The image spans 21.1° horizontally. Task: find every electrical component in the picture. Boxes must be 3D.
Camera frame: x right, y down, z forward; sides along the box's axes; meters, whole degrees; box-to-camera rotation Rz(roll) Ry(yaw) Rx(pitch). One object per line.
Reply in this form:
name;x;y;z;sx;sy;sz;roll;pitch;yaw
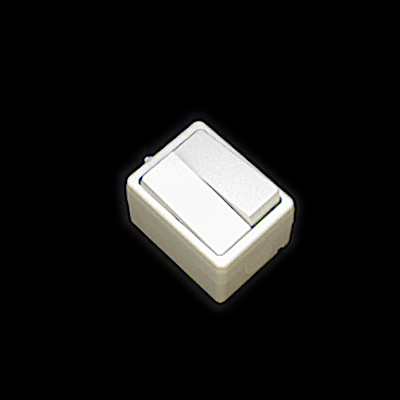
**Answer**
electrical component;0.000;0.000;0.627;0.062;0.096;0.061;-41;-20;-19
